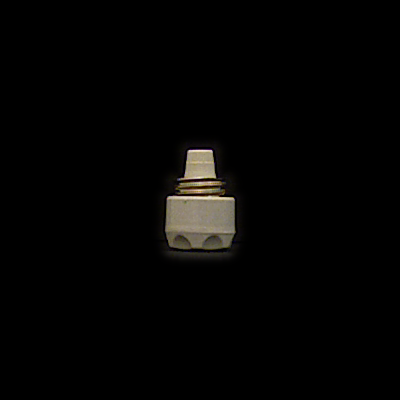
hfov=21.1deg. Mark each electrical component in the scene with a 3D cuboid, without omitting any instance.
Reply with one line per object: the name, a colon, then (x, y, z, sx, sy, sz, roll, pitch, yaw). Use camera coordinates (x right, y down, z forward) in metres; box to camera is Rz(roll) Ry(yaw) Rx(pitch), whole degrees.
electrical component: (0.000, 0.000, 0.656, 0.043, 0.062, 0.043, 0, 2, 1)
